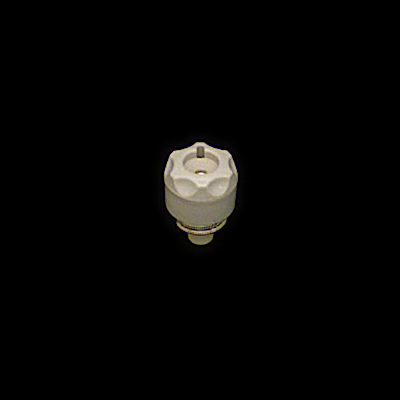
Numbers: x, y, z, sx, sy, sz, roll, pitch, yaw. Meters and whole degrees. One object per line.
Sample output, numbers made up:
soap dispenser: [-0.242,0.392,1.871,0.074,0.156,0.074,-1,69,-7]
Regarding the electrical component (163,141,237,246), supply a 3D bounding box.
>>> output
electrical component: [0.000,0.000,0.637,0.043,0.062,0.043,1,43,0]
